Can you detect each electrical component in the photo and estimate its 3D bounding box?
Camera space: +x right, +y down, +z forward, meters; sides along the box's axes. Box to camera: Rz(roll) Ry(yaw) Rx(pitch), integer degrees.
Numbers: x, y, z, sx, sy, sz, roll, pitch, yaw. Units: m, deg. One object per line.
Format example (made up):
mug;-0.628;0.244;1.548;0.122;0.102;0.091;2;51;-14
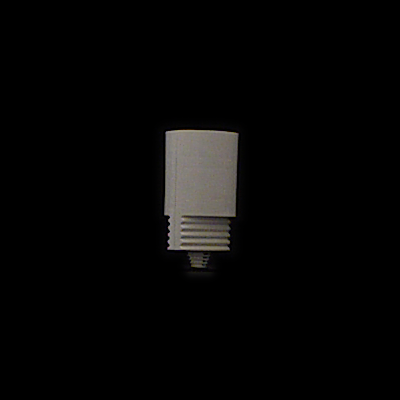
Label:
electrical component;0.000;0.000;0.647;0.043;0.081;0.043;0;1;0
